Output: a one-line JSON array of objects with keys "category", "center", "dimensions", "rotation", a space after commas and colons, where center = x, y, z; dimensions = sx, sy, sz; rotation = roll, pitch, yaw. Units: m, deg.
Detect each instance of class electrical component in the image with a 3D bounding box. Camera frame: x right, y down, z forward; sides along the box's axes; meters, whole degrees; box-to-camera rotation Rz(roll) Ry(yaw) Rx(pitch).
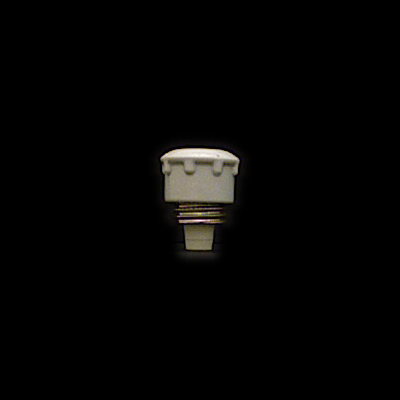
[{"category": "electrical component", "center": [0.000, 0.000, 0.654], "dimensions": [0.048, 0.062, 0.048], "rotation": [1, 1, 1]}]
